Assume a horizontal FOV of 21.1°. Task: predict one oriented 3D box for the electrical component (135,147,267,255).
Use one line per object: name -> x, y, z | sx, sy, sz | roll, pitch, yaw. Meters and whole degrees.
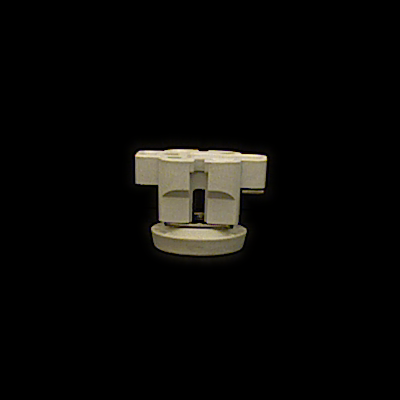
electrical component -> 0.000, 0.000, 0.652 | 0.078, 0.057, 0.057 | 3, 11, 1
